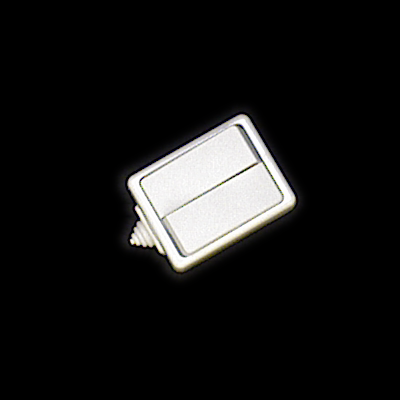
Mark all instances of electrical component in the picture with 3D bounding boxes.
[{"bbox_3d":[0.000,0.000,0.627,0.096,0.062,0.061,-29,-6,-3],"label":"electrical component"}]
